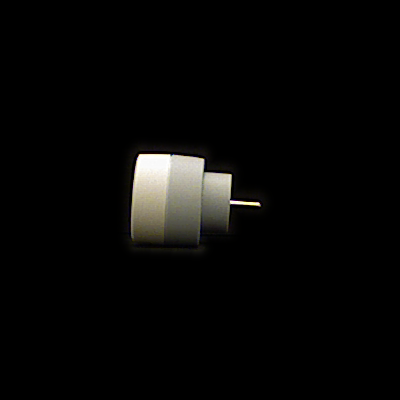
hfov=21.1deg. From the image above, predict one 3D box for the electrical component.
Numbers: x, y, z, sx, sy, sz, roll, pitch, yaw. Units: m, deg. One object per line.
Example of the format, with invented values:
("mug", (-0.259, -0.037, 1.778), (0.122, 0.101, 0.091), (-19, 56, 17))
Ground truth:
("electrical component", (0.000, 0.000, 0.655), (0.074, 0.052, 0.138), (3, 1, 0))
